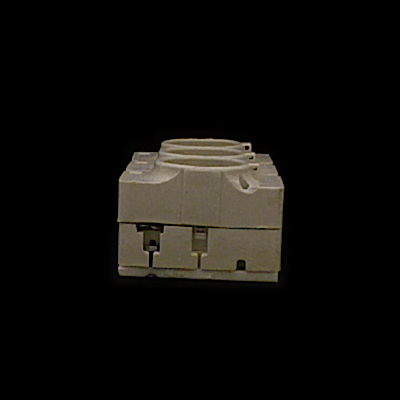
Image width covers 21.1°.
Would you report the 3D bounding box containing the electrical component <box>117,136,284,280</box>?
[{"bbox_3d":[0.000,0.000,0.651,0.089,0.062,0.148,2,10,0],"label":"electrical component"}]
